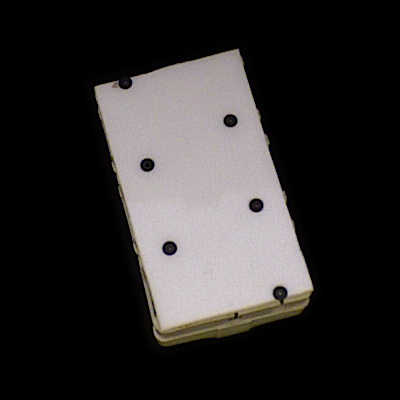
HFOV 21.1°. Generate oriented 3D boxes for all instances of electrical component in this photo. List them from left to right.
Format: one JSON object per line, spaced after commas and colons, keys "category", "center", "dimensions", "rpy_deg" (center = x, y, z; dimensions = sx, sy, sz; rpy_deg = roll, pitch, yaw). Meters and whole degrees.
{"category": "electrical component", "center": [0.000, 0.000, 0.630], "dimensions": [0.089, 0.150, 0.062], "rpy_deg": [-14, -16, -4]}
